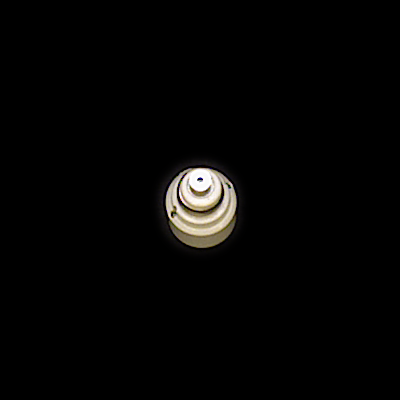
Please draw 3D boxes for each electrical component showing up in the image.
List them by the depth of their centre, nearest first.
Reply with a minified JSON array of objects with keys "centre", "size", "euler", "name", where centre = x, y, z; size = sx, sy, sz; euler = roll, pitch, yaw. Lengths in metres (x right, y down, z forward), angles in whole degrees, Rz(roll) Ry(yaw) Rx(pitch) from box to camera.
[{"centre":[0.000,0.000,0.618],"size":[0.040,0.040,0.078],"euler":[0,-16,1],"name":"electrical component"}]
